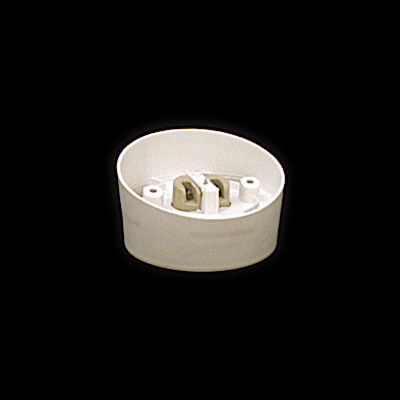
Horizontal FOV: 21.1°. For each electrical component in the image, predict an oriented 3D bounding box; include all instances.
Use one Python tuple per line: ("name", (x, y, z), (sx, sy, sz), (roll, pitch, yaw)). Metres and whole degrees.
("electrical component", (0.000, 0.000, 0.638), (0.099, 0.065, 0.097), (0, 20, 0))
